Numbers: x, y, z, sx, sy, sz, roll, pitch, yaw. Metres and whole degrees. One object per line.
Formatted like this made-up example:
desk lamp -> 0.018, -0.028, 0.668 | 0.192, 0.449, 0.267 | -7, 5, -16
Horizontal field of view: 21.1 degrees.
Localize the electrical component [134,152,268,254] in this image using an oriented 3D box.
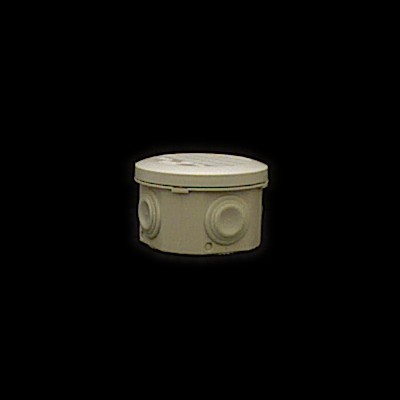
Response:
electrical component -> 0.000, 0.000, 0.647 | 0.080, 0.051, 0.079 | 1, 10, 0
